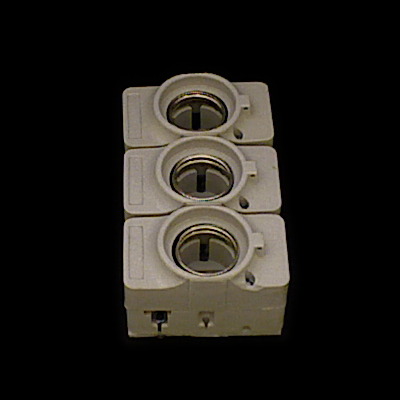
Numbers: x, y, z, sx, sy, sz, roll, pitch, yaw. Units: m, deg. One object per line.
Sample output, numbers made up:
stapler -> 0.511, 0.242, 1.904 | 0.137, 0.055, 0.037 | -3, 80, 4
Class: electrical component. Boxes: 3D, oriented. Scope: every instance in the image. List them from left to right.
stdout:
electrical component -> 0.000, 0.000, 0.634 | 0.089, 0.148, 0.062 | -2, -37, -3
